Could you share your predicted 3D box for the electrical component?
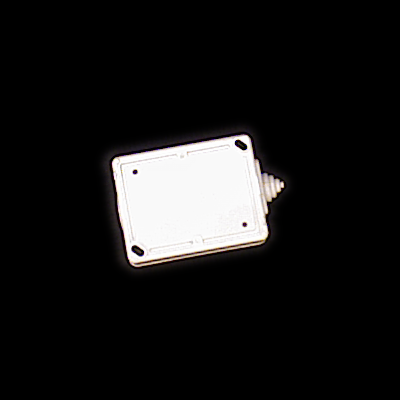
[{"bbox_3d":[0.000,0.000,0.629,0.096,0.062,0.061,-10,-7,-2],"label":"electrical component"}]
